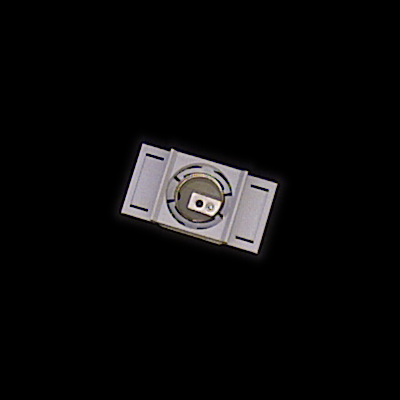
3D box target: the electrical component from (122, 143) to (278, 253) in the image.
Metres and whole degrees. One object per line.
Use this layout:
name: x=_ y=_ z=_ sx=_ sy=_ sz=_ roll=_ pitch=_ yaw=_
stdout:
electrical component: x=0.000 y=0.000 z=0.625 sx=0.081 sy=0.042 sz=0.063 roll=17 pitch=-7 yaw=2
